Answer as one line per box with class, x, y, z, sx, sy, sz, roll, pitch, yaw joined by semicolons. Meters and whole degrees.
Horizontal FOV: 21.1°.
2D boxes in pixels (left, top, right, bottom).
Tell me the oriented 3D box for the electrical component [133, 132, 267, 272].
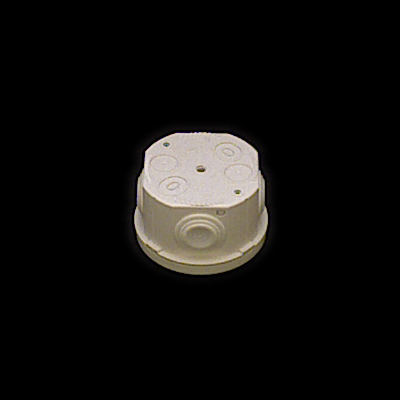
electrical component;0.000;0.000;0.635;0.080;0.051;0.080;0;42;0
